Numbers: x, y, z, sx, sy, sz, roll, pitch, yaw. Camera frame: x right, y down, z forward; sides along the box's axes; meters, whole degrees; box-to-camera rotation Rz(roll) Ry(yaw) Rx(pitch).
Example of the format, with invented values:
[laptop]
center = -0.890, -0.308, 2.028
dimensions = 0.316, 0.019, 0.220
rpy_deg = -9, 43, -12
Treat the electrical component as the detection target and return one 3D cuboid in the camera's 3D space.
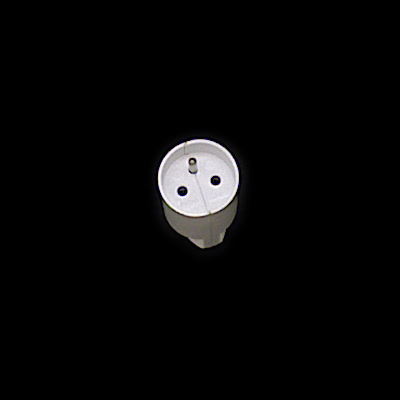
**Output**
[electrical component]
center = 0.000, 0.000, 0.615
dimensions = 0.043, 0.043, 0.080
rpy_deg = 0, -17, 0
